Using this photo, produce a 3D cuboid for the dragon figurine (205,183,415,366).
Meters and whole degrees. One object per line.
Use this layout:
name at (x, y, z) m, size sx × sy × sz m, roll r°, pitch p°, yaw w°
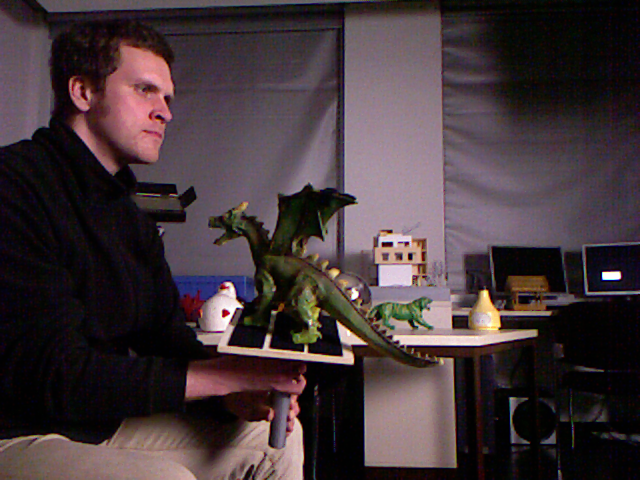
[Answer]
dragon figurine at (-0.023, 0.031, 0.829) m, size 0.412 × 0.241 × 0.123 m, roll 12°, pitch 12°, yaw 30°
